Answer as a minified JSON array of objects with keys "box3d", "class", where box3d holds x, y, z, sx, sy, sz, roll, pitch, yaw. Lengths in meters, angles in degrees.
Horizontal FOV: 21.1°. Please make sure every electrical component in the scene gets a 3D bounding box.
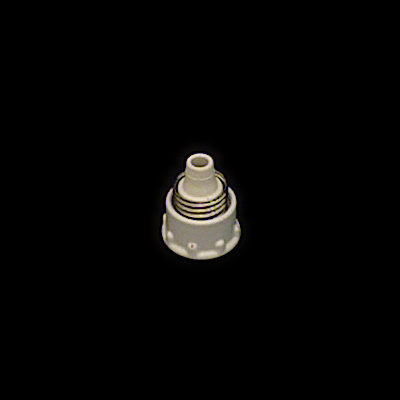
[{"box3d":[0.000,0.000,0.638,0.048,0.062,0.047,0,41,1],"class":"electrical component"}]
